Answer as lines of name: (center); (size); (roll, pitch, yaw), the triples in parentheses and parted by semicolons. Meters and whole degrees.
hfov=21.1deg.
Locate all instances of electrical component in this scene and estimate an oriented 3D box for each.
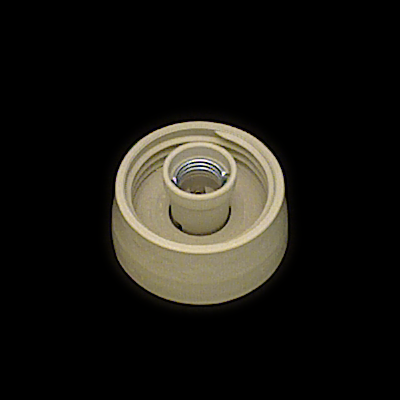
electrical component: (0.000, 0.000, 0.636); (0.108, 0.107, 0.060); (0, -37, 0)
